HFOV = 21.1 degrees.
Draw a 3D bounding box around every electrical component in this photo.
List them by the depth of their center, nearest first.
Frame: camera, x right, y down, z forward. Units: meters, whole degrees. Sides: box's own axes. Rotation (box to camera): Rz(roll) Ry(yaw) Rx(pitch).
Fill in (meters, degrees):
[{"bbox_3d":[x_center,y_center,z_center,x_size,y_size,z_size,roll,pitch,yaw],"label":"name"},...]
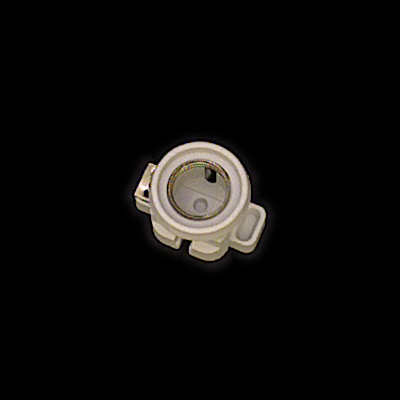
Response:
[{"bbox_3d":[0.000,0.000,0.628,0.078,0.058,0.056,22,-15,6],"label":"electrical component"}]
